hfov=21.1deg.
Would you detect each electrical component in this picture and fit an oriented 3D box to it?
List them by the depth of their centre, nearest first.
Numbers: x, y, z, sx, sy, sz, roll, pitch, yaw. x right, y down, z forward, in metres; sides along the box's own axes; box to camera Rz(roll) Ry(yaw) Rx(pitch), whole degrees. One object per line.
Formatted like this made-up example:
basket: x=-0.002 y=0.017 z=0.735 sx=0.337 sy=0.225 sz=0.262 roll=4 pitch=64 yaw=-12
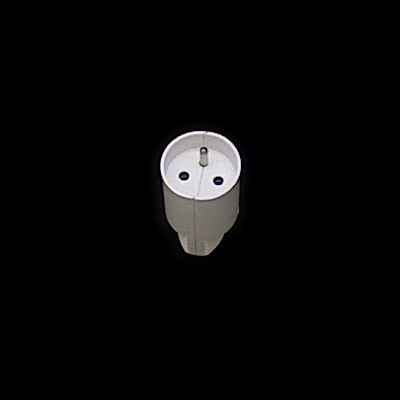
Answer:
electrical component: x=0.000 y=0.000 z=0.617 sx=0.043 sy=0.043 sz=0.081 roll=0 pitch=-28 yaw=-1
